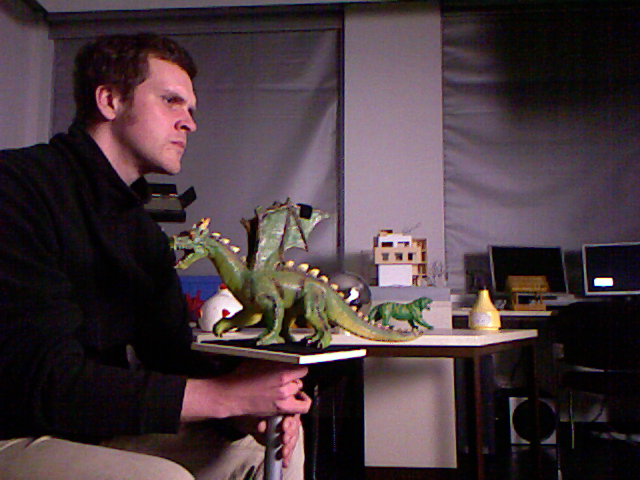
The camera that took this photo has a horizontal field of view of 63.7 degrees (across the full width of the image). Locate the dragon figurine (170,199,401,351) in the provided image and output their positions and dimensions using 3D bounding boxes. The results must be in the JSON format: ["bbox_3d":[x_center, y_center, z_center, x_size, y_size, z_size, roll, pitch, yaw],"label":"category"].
[{"bbox_3d":[-0.043,0.051,0.852,0.410,0.244,0.122,6,-6,-25],"label":"dragon figurine"}]
